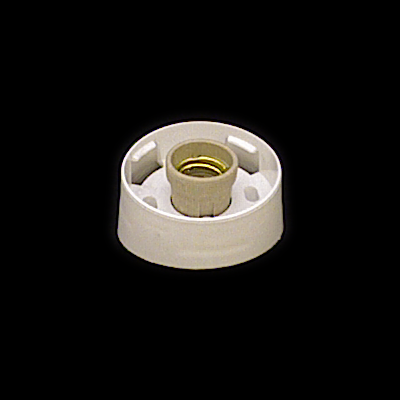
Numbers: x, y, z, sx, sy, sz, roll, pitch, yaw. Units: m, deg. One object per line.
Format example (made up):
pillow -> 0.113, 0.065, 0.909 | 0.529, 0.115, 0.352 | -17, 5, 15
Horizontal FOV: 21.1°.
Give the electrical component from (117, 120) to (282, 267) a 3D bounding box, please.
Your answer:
electrical component -> 0.000, 0.000, 0.629 | 0.099, 0.064, 0.098 | 0, 41, 0
